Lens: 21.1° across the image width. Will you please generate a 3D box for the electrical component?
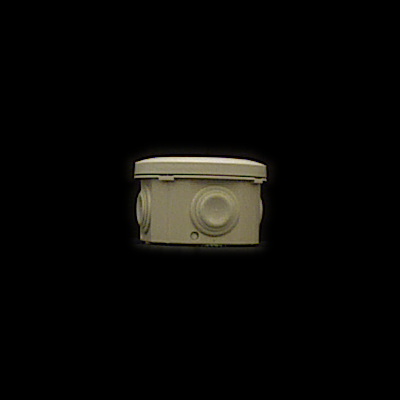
[{"bbox_3d":[0.000,0.000,0.651,0.080,0.051,0.080,1,0,0],"label":"electrical component"}]
